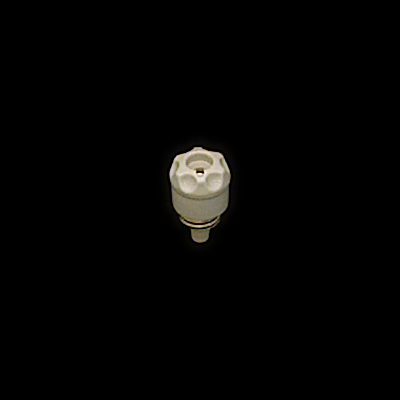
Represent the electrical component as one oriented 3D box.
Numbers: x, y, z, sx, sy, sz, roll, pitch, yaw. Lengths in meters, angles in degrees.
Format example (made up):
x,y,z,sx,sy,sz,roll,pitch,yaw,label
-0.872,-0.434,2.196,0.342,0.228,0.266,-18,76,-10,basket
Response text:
x,y,z,sx,sy,sz,roll,pitch,yaw,label
0.000,0.000,0.636,0.035,0.062,0.035,0,43,0,electrical component
